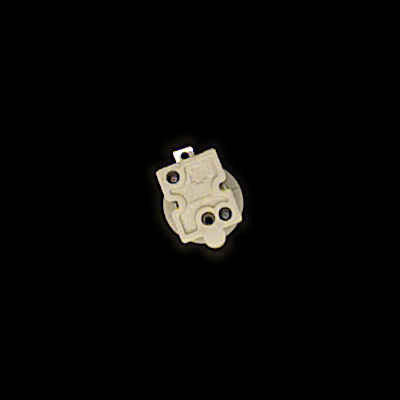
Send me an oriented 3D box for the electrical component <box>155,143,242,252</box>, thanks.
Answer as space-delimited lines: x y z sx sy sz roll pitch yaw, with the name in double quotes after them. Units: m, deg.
0.000 0.000 0.639 0.048 0.066 0.055 -21 -6 0 "electrical component"
